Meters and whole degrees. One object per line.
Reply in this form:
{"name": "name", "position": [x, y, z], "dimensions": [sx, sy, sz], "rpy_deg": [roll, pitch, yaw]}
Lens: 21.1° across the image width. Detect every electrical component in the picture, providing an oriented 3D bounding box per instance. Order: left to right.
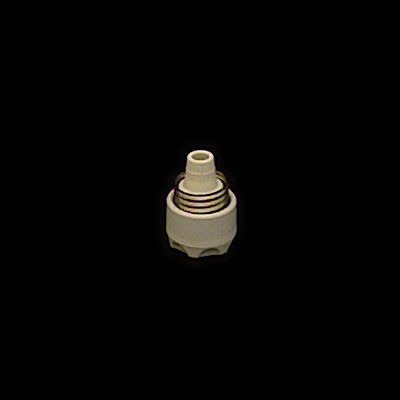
{"name": "electrical component", "position": [0.000, 0.000, 0.642], "dimensions": [0.043, 0.063, 0.043], "rpy_deg": [0, 31, 1]}
